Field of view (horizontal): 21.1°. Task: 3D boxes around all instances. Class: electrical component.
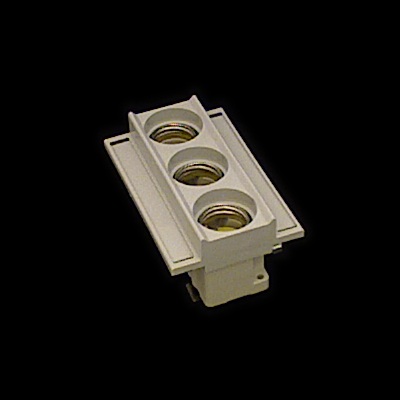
[{"bbox_3d":[0.000,0.000,0.641,0.079,0.063,0.120,-16,45,-15],"label":"electrical component"}]
